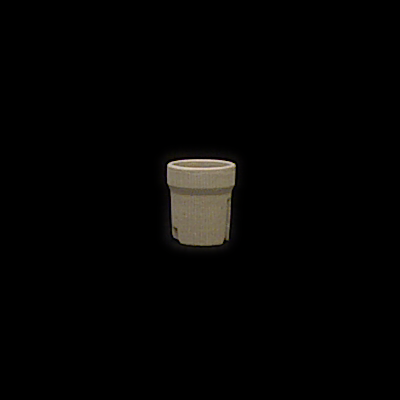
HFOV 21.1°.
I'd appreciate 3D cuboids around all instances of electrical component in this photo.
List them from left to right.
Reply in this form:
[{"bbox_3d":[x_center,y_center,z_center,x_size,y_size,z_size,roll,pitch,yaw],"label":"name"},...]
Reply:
[{"bbox_3d":[0.000,0.000,0.645,0.040,0.046,0.040,1,11,0],"label":"electrical component"}]
